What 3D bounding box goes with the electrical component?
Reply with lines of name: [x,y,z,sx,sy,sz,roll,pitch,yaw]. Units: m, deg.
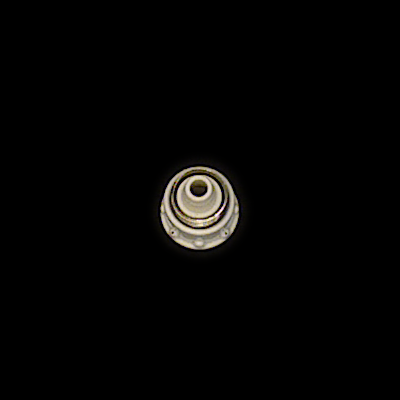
electrical component: [0.000,0.000,0.633,0.048,0.048,0.061,0,-15,0]
